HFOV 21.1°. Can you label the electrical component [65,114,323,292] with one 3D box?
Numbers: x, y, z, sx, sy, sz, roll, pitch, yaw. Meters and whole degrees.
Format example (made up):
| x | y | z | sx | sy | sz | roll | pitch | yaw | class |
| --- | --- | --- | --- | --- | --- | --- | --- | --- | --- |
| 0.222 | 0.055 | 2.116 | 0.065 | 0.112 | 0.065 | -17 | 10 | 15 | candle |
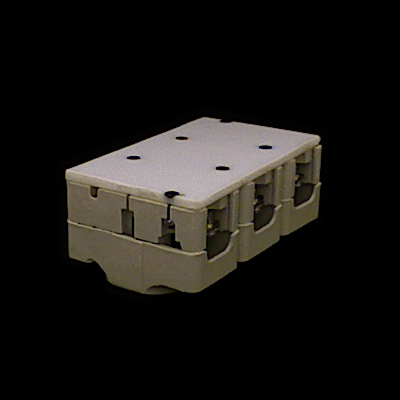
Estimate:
| x | y | z | sx | sy | sz | roll | pitch | yaw | class |
| --- | --- | --- | --- | --- | --- | --- | --- | --- | --- |
| 0.000 | 0.000 | 0.649 | 0.089 | 0.063 | 0.148 | 14 | 23 | 29 | electrical component |
